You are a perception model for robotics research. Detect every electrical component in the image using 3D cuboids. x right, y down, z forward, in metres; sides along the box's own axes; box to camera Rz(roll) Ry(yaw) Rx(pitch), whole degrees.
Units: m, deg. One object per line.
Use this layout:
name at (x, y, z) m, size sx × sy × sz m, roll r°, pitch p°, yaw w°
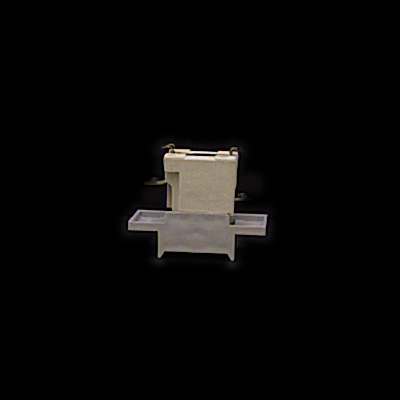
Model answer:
electrical component at (0.000, 0.000, 0.644) m, size 0.081 × 0.064 × 0.042 m, roll 2°, pitch 11°, yaw 4°
